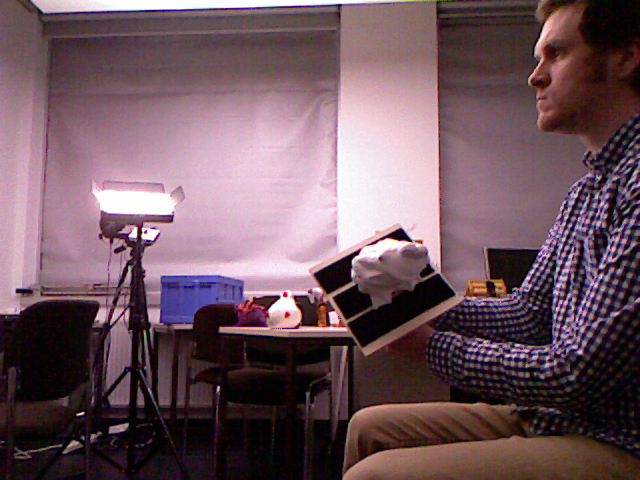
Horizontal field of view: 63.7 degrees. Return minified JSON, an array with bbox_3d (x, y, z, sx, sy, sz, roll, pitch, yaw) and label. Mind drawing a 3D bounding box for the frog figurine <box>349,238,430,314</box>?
[{"bbox_3d":[0.119,0.037,0.878,0.138,0.126,0.156,-13,-33,-7],"label":"frog figurine"}]
